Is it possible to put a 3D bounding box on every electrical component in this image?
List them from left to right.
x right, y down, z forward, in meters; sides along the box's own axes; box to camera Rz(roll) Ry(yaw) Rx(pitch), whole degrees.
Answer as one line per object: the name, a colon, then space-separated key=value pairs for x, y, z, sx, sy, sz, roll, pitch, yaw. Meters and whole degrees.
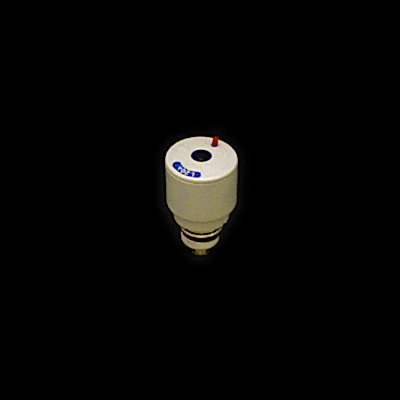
electrical component: x=0.000 y=0.000 z=0.625 sx=0.040 sy=0.079 sz=0.039 roll=1 pitch=41 yaw=0
